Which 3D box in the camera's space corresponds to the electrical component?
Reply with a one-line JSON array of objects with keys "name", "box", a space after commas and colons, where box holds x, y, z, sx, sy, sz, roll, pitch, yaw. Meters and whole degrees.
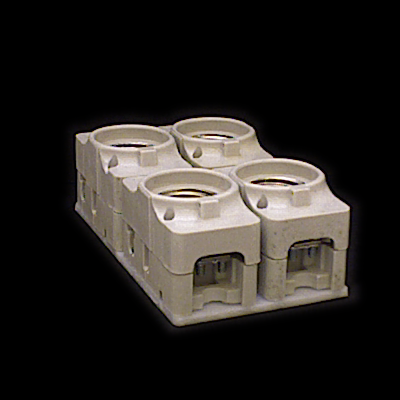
[{"name": "electrical component", "box": [0.000, 0.000, 0.639, 0.105, 0.061, 0.184, -7, 22, -21]}]
